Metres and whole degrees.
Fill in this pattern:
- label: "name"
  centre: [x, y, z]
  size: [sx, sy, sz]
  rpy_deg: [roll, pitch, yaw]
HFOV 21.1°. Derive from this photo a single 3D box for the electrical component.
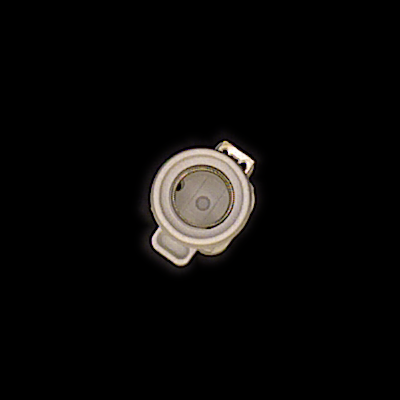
- label: "electrical component"
  centre: [0.000, 0.000, 0.630]
  size: [0.058, 0.079, 0.056]
  rpy_deg: [35, -5, 4]
